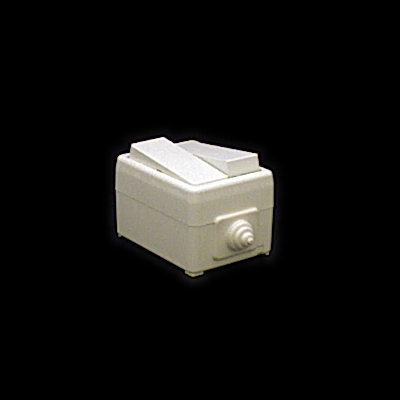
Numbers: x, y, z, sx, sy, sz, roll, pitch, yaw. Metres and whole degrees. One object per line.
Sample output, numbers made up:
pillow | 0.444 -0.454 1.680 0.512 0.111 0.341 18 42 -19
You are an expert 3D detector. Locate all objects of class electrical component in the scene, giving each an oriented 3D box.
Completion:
electrical component | 0.000 0.000 0.637 0.061 0.061 0.095 -14 25 -35
